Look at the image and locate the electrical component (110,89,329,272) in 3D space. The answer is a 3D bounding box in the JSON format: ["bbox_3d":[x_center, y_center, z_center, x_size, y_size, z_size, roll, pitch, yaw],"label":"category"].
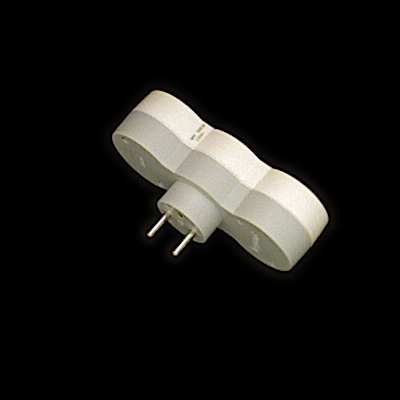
[{"bbox_3d":[0.000,0.000,0.637,0.137,0.074,0.052,35,-20,16],"label":"electrical component"}]
